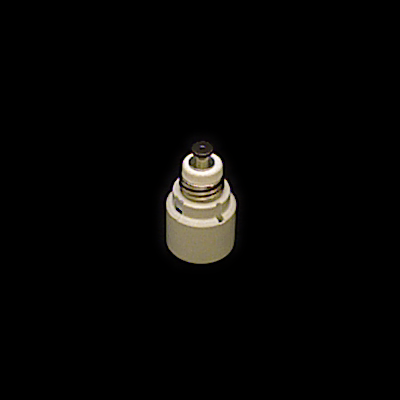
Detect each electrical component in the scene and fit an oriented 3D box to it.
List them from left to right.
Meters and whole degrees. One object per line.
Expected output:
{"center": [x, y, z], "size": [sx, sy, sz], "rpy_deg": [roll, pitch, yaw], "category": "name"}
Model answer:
{"center": [0.000, 0.000, 0.625], "size": [0.040, 0.079, 0.039], "rpy_deg": [1, 42, -1], "category": "electrical component"}
